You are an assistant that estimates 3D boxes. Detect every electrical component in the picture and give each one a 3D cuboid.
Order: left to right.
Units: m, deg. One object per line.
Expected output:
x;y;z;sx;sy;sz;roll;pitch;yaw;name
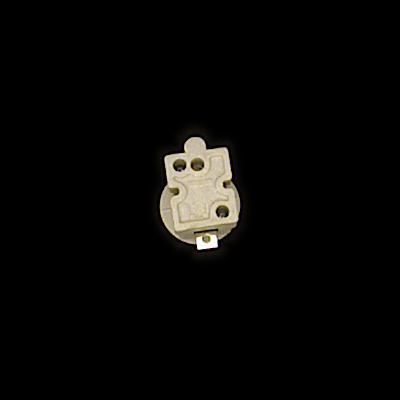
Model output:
0.000;0.000;0.637;0.048;0.066;0.055;-8;-15;-3;electrical component
